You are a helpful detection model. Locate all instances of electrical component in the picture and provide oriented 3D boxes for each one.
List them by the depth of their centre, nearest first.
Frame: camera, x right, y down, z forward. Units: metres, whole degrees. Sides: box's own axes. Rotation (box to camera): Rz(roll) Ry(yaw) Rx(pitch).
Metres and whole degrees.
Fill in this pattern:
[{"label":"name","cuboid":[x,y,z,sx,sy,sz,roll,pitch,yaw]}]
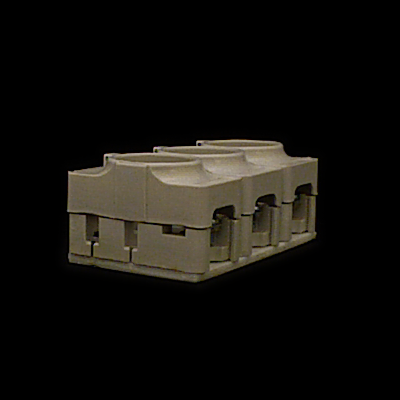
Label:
[{"label":"electrical component","cuboid":[0.000,0.000,0.651,0.089,0.062,0.149,6,10,30]}]
